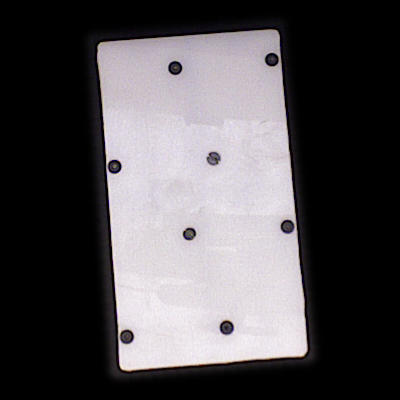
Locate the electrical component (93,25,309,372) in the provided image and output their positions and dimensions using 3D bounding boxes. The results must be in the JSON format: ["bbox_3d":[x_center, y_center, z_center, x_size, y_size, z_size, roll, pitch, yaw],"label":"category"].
[{"bbox_3d":[0.000,0.000,0.626,0.105,0.187,0.060,-5,-7,0],"label":"electrical component"}]
